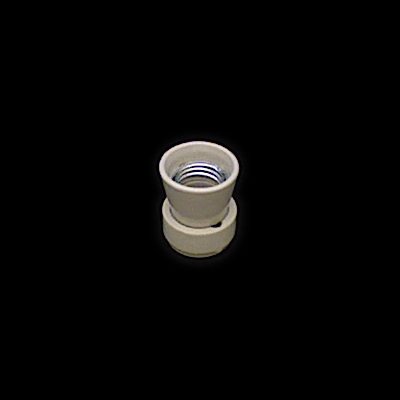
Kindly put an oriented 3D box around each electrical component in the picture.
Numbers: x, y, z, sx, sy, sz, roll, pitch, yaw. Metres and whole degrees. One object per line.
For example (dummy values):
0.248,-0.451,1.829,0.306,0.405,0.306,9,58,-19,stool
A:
0.000,0.000,0.630,0.045,0.055,0.044,0,42,0,electrical component
